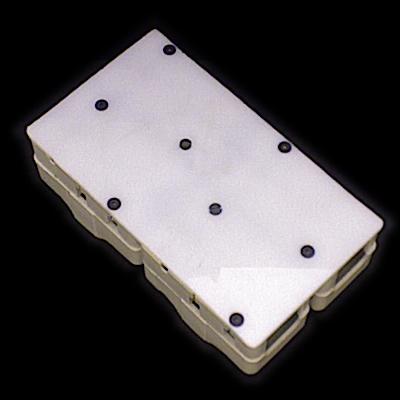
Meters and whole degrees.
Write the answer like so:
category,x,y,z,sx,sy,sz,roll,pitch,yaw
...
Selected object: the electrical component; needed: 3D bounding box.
category,x,y,z,sx,sy,sz,roll,pitch,yaw
electrical component,0.000,0.000,0.625,0.106,0.186,0.060,-41,-20,-18
